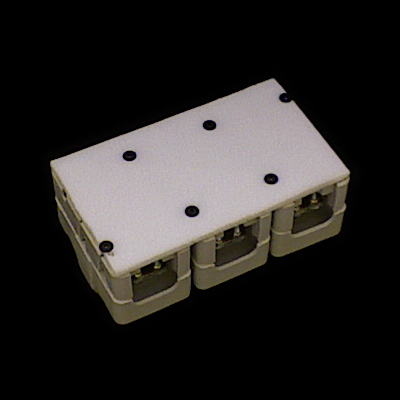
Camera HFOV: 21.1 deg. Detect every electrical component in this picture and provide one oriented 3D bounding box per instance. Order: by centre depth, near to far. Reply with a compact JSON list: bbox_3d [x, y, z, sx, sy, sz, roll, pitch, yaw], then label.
[{"bbox_3d":[0.000,0.000,0.635,0.150,0.088,0.063,-22,-34,-17],"label":"electrical component"}]
